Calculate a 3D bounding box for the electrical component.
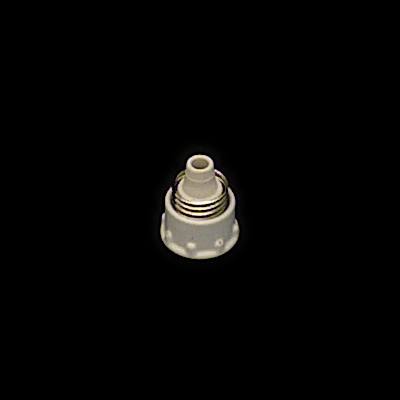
[{"bbox_3d":[0.000,0.000,0.636,0.048,0.062,0.047,0,44,0],"label":"electrical component"}]
